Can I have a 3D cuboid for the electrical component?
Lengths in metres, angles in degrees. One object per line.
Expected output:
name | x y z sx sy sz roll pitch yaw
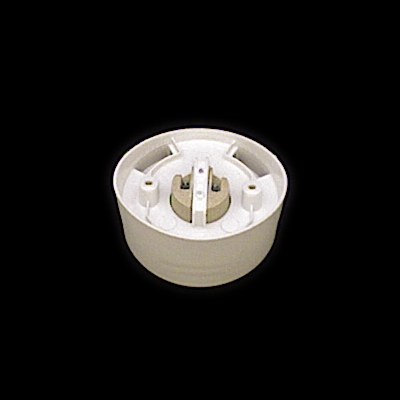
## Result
electrical component | 0.000 0.000 0.625 0.099 0.098 0.064 0 -37 -1
